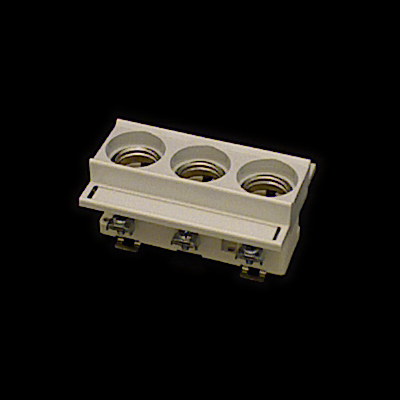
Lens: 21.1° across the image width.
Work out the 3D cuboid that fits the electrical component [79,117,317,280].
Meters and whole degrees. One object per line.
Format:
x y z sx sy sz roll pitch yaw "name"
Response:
0.000 0.000 0.644 0.121 0.064 0.078 13 42 13 "electrical component"
